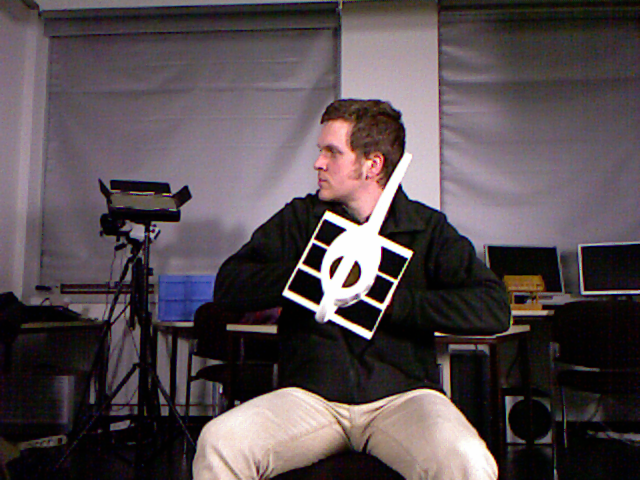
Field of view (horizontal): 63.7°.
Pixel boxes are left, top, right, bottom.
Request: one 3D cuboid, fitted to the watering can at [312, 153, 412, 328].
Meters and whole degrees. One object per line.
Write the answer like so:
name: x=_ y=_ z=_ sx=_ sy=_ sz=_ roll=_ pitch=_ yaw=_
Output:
watering can: x=0.085 y=0.012 z=0.984 sx=0.105 sy=0.351 sz=0.223 roll=29 pitch=-8 yaw=10
